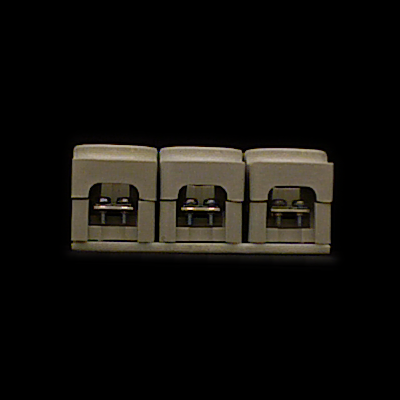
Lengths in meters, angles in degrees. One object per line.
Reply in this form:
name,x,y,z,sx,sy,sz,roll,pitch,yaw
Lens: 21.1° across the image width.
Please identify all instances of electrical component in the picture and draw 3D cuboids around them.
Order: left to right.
electrical component,0.000,0.000,0.658,0.150,0.062,0.089,2,-1,-3
